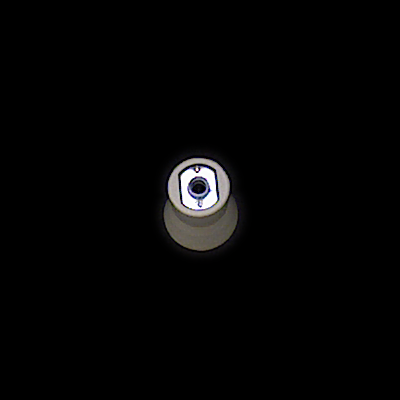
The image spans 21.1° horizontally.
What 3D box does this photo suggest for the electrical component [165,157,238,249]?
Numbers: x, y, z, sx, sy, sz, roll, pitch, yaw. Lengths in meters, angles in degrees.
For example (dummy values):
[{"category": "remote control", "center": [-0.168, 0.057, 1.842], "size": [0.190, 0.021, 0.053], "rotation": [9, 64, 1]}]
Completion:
[{"category": "electrical component", "center": [0.000, 0.000, 0.624], "size": [0.044, 0.044, 0.065], "rotation": [0, -16, 1]}]
